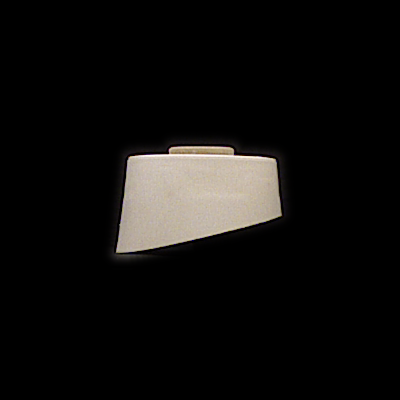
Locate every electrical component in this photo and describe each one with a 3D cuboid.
[{"bbox_3d":[0.000,0.000,0.650,0.099,0.064,0.099,1,0,0],"label":"electrical component"}]
